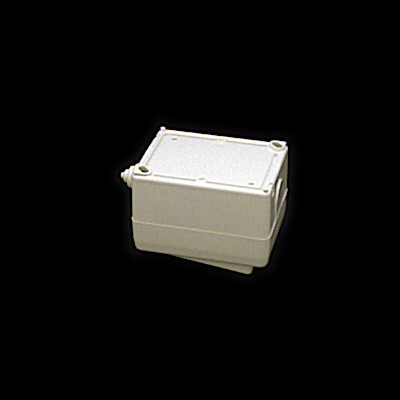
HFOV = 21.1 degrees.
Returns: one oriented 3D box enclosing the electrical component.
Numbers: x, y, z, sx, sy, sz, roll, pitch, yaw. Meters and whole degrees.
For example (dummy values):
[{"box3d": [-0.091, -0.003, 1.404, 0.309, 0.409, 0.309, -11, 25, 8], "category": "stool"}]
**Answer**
[{"box3d": [0.000, 0.000, 0.634, 0.096, 0.061, 0.061, 8, 32, 11], "category": "electrical component"}]
